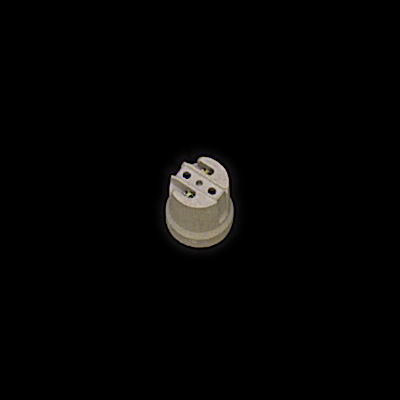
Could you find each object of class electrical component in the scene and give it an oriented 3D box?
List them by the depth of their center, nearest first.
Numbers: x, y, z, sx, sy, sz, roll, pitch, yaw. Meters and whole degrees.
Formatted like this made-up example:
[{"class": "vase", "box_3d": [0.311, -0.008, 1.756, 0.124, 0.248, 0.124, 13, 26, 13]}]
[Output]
[{"class": "electrical component", "box_3d": [0.000, 0.000, 0.633, 0.040, 0.040, 0.046, 0, -27, -1]}]
